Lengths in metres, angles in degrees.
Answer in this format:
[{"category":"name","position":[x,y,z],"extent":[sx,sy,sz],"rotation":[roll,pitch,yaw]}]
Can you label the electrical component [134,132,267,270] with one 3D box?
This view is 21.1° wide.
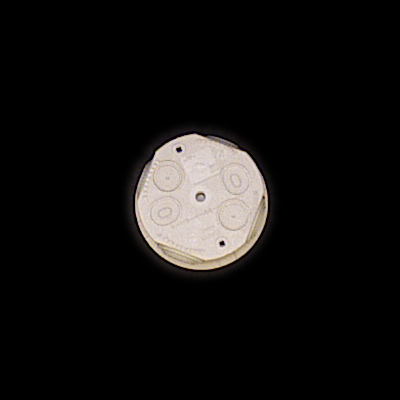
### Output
[{"category":"electrical component","position":[0.000,0.000,0.634],"extent":[0.080,0.080,0.050],"rotation":[0,-7,1]}]
